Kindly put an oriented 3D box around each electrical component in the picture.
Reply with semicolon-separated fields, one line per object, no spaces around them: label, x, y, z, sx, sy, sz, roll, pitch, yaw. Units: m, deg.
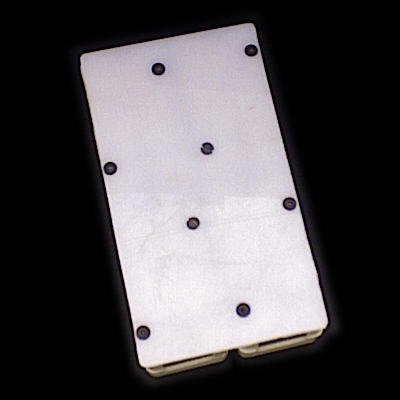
electrical component;0.000;0.000;0.625;0.105;0.187;0.060;-12;-17;-4
